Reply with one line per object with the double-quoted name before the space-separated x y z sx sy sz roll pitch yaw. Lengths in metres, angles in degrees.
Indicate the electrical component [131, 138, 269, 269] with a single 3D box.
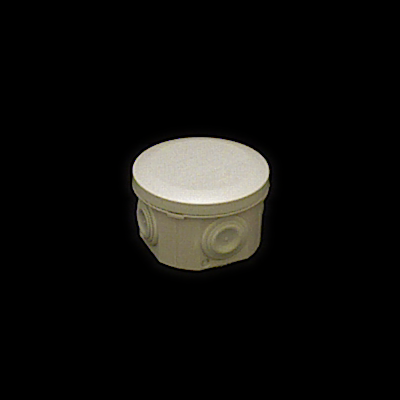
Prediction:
"electrical component" 0.000 0.000 0.635 0.080 0.051 0.079 1 31 0
